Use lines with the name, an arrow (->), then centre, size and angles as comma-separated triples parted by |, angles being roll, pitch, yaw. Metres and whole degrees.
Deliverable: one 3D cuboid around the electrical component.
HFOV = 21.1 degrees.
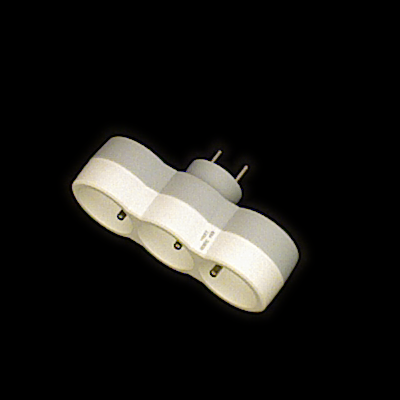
electrical component -> 0.000, 0.000, 0.639 | 0.137, 0.074, 0.052 | 31, -24, 14
